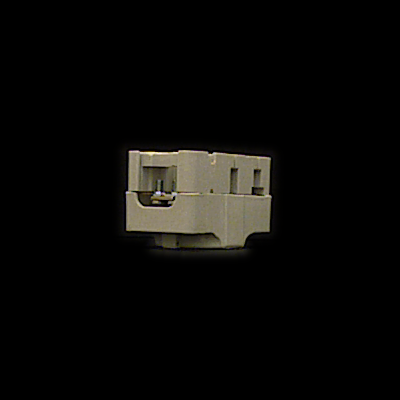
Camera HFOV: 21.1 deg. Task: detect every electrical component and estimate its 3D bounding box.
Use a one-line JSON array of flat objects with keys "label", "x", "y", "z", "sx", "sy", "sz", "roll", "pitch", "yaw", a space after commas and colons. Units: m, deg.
[{"label": "electrical component", "x": 0.000, "y": 0.000, "z": 0.656, "sx": 0.050, "sy": 0.056, "sz": 0.090, "roll": 3, "pitch": 2, "yaw": 35}]
